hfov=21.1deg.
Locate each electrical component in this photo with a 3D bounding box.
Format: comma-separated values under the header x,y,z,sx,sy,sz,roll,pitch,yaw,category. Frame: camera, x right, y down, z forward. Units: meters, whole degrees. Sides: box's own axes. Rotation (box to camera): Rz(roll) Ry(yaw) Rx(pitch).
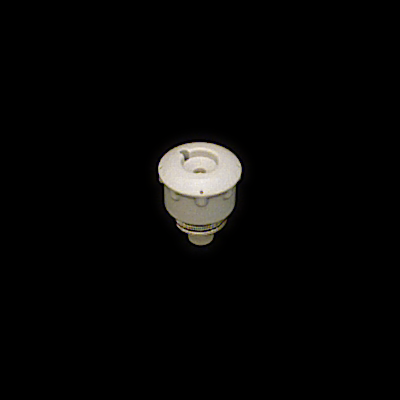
x,y,z,sx,sy,sz,roll,pitch,yaw,category
0.000,0.000,0.636,0.048,0.062,0.048,1,42,0,electrical component
